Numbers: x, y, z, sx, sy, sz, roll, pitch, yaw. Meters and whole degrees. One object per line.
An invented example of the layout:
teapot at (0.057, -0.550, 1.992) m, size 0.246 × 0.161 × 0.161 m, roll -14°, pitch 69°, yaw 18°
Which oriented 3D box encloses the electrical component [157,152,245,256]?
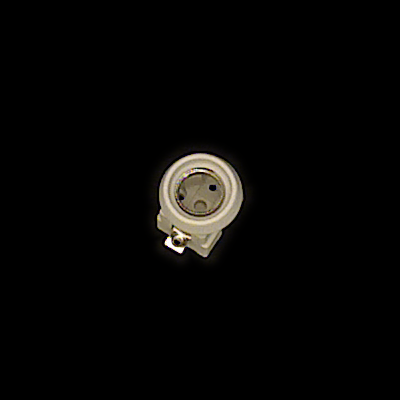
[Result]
electrical component at (0.000, 0.000, 0.637) m, size 0.048 × 0.067 × 0.055 m, roll 29°, pitch -14°, yaw 10°
